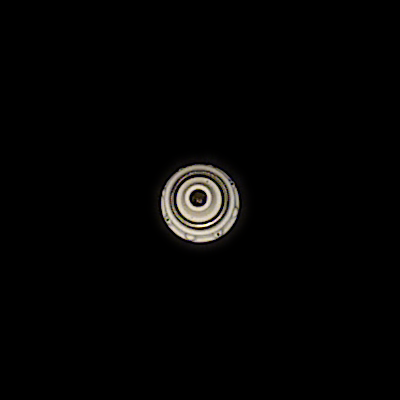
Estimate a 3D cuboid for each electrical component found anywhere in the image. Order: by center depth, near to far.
[{"bbox_3d":[0.000,0.000,0.634,0.048,0.048,0.062,0,-4,1],"label":"electrical component"}]
